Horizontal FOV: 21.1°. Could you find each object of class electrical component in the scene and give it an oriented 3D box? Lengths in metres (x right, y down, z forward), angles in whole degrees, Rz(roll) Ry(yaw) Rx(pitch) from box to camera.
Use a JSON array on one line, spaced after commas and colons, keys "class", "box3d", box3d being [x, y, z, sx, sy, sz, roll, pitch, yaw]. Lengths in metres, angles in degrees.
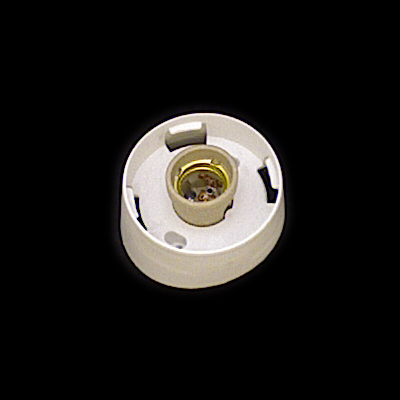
[{"class": "electrical component", "box3d": [0.000, 0.000, 0.625, 0.099, 0.099, 0.064, 0, -27, 0]}]
